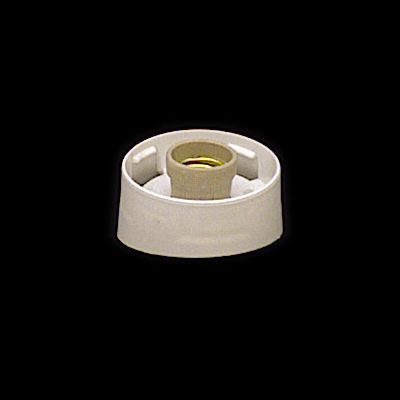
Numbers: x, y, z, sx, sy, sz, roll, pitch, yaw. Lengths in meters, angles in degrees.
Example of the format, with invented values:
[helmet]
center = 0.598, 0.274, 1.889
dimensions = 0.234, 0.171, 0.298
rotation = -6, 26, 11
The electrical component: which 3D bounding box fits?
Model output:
[electrical component]
center = 0.000, 0.000, 0.633
dimensions = 0.099, 0.065, 0.097
rotation = 1, 31, 0
